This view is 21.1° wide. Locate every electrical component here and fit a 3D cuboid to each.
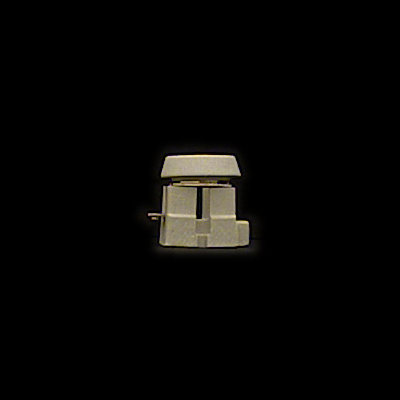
[{"bbox_3d":[0.000,0.000,0.655,0.067,0.055,0.048,1,0,-10],"label":"electrical component"}]
